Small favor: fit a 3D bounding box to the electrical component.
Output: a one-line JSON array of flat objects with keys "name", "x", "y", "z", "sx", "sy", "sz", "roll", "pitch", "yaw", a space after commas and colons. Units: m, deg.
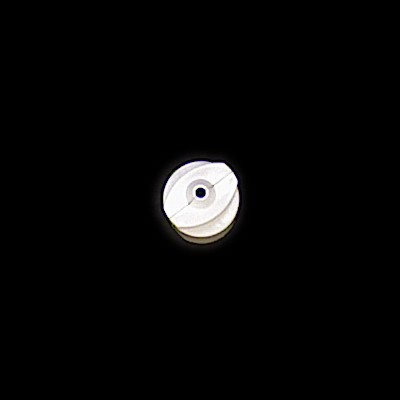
[{"name": "electrical component", "x": 0.000, "y": 0.000, "z": 0.616, "sx": 0.043, "sy": 0.043, "sz": 0.080, "roll": 0, "pitch": -6, "yaw": 0}]
